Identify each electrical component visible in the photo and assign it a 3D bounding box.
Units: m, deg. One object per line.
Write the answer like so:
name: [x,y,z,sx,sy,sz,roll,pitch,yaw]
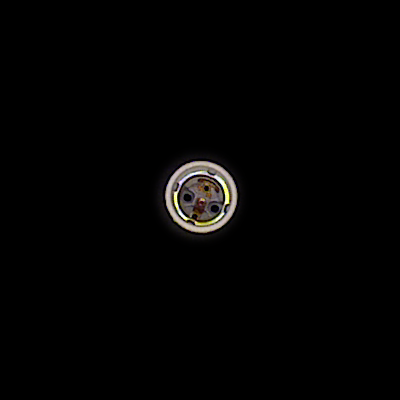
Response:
electrical component: [0.000,0.000,0.627,0.040,0.040,0.046,0,-6,0]
